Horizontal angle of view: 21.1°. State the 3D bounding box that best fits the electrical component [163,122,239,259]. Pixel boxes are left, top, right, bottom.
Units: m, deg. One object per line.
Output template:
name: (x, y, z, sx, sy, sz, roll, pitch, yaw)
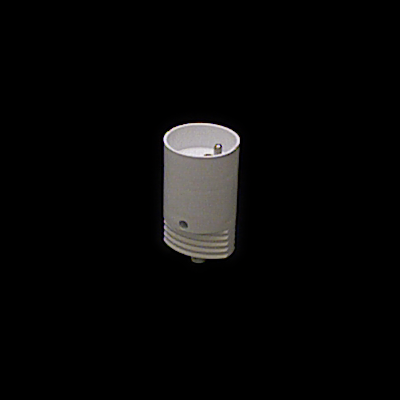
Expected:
electrical component: (0.000, 0.000, 0.629, 0.043, 0.082, 0.042, 1, 32, -1)
